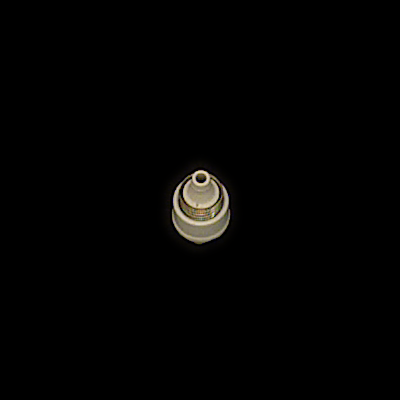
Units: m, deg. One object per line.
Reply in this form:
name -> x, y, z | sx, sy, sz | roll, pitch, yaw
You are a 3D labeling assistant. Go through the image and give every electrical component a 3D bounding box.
electrical component -> 0.000, 0.000, 0.639 | 0.035, 0.035, 0.061 | 0, -25, 0
